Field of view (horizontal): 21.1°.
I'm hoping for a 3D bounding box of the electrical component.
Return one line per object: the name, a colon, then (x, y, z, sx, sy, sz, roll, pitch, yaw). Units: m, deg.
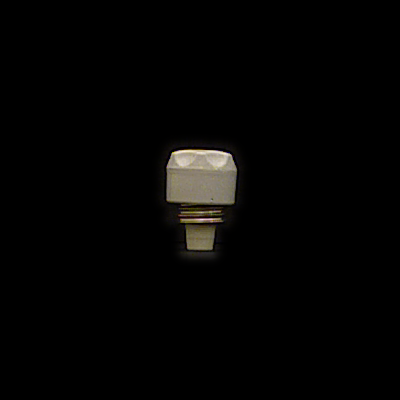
electrical component: (0.000, 0.000, 0.656, 0.043, 0.062, 0.043, 2, 3, 0)
